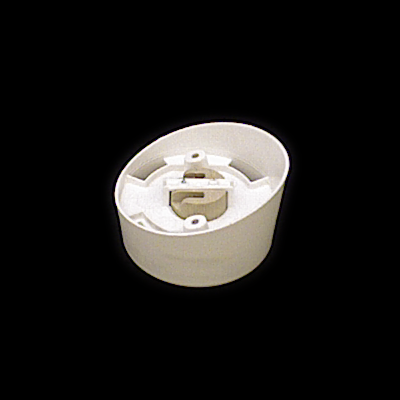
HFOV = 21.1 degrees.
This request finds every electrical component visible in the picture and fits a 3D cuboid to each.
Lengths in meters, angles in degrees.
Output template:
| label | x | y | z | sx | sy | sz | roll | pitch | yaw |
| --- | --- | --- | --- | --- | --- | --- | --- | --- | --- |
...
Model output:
| label | x | y | z | sx | sy | sz | roll | pitch | yaw |
| --- | --- | --- | --- | --- | --- | --- | --- | --- | --- |
| electrical component | 0.000 | 0.000 | 0.630 | 0.099 | 0.065 | 0.097 | 1 | 41 | -1 |
